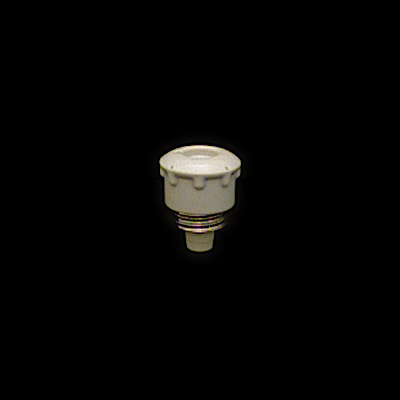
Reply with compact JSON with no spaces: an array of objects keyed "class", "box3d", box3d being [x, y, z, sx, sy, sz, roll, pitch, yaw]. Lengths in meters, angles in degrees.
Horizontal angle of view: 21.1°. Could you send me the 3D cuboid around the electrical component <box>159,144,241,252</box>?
[{"class":"electrical component","box3d":[0.000,0.000,0.643,0.048,0.062,0.047,1,21,0]}]
